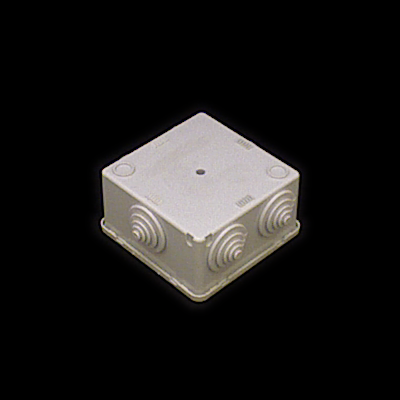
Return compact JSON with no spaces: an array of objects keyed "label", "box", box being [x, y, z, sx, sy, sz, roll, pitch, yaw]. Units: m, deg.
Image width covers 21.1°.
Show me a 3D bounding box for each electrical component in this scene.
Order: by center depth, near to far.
[{"label":"electrical component","box":[0.000,0.000,0.633,0.100,0.049,0.099,-33,52,-31]}]
